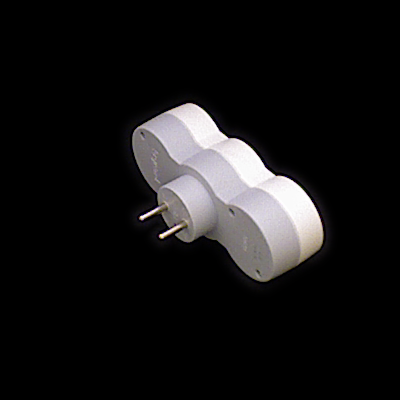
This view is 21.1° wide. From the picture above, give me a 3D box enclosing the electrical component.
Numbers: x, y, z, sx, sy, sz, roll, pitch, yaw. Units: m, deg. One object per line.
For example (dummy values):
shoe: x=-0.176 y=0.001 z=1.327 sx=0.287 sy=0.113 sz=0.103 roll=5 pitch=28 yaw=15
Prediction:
electrical component: x=0.000 y=0.000 z=0.632 sx=0.073 sy=0.052 sz=0.137 roll=-29 pitch=51 yaw=-26
